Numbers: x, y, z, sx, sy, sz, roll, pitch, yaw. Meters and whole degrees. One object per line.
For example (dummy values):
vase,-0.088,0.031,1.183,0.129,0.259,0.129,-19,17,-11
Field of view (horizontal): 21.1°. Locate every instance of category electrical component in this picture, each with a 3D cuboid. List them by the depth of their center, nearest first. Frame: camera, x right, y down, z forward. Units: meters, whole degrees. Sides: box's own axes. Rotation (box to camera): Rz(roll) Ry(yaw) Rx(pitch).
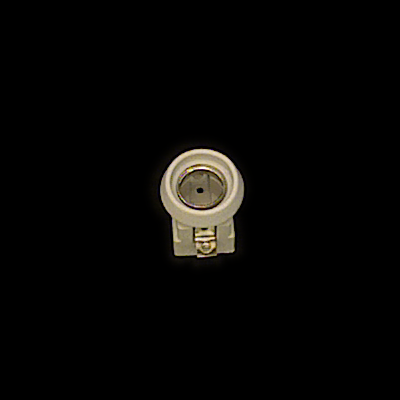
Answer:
electrical component,0.000,0.000,0.636,0.048,0.066,0.055,-7,-26,-1
